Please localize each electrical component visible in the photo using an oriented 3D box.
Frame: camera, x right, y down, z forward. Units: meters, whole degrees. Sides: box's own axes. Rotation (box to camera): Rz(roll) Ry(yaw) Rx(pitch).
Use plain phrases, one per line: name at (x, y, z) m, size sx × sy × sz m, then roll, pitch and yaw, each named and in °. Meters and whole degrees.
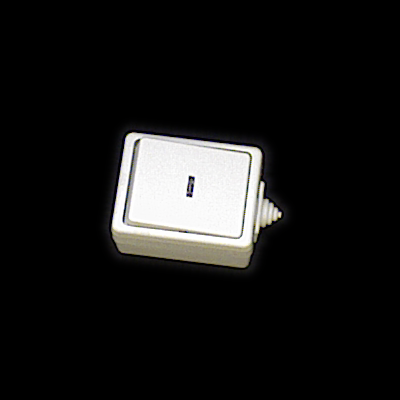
electrical component at (0.000, 0.000, 0.626) m, size 0.096 × 0.062 × 0.060 m, roll 7°, pitch -17°, yaw 2°
